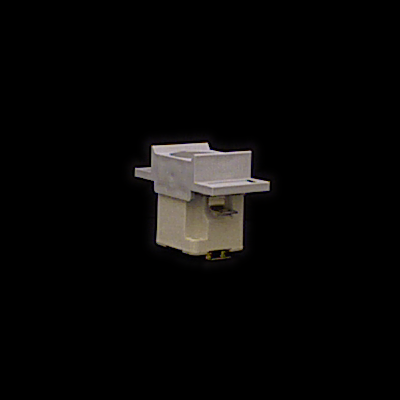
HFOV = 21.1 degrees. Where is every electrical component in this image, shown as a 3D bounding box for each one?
[{"bbox_3d":[0.000,0.000,0.645,0.042,0.064,0.080,-8,14,-35],"label":"electrical component"}]
